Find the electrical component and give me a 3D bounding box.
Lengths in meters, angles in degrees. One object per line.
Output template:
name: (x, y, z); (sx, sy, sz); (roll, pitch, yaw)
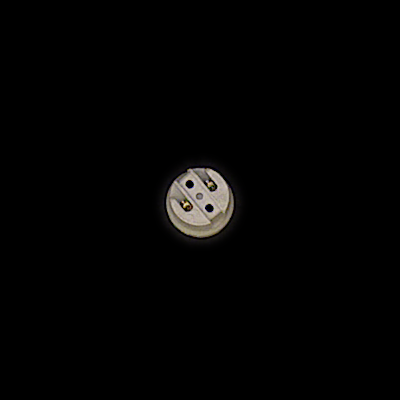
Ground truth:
electrical component: (0.000, 0.000, 0.634); (0.040, 0.040, 0.046); (0, -6, 0)
